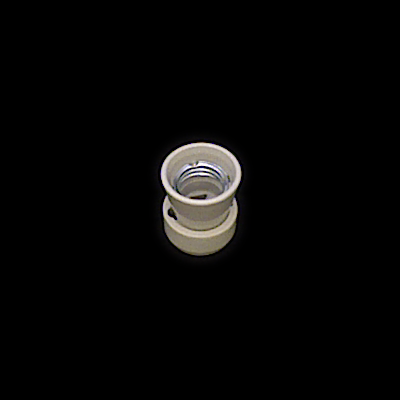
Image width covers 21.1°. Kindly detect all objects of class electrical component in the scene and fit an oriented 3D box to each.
[{"bbox_3d":[0.000,0.000,0.629,0.045,0.044,0.055,0,-37,0],"label":"electrical component"}]
